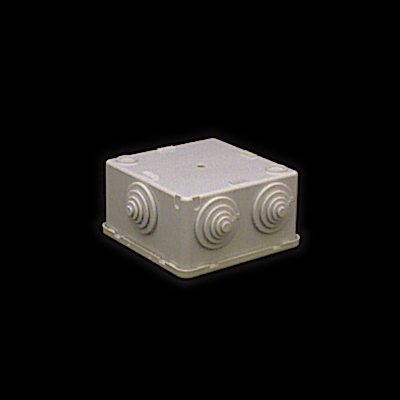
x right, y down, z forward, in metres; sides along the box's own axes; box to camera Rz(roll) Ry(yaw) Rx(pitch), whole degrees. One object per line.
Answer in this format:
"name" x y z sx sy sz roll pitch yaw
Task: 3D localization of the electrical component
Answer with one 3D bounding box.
"electrical component" 0.000 0.000 0.640 0.100 0.049 0.098 -14 26 -35
